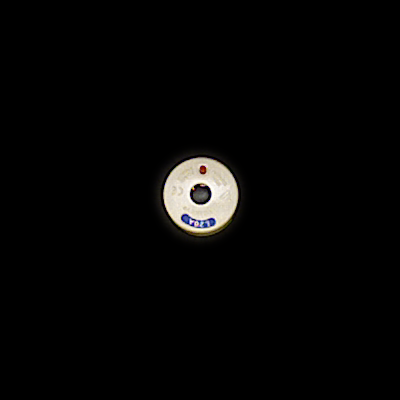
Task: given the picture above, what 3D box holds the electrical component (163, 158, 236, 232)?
[{"bbox_3d":[0.000,0.000,0.618,0.040,0.040,0.078,0,-7,1],"label":"electrical component"}]
